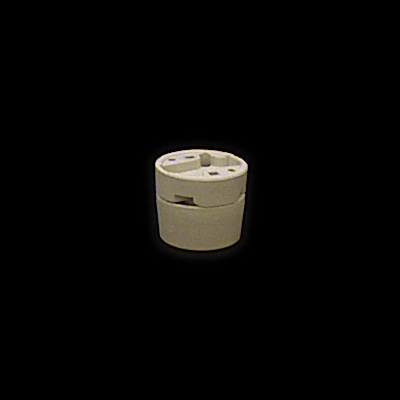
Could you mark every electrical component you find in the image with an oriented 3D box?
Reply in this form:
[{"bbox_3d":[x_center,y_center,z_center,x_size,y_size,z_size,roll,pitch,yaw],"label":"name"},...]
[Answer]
[{"bbox_3d":[0.000,0.000,0.643,0.055,0.047,0.055,1,22,0],"label":"electrical component"}]
